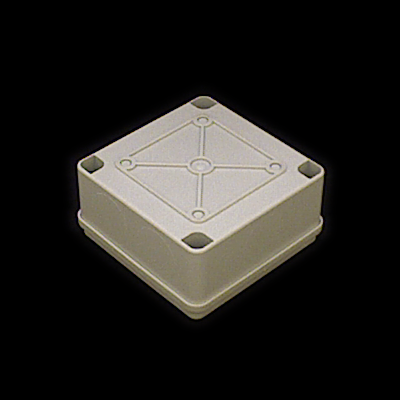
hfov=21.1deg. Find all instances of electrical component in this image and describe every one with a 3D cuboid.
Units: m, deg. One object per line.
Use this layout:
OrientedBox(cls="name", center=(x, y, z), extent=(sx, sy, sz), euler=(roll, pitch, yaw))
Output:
OrientedBox(cls="electrical component", center=(0.000, 0.000, 0.633), extent=(0.108, 0.057, 0.107), euler=(-32, 51, -32))
